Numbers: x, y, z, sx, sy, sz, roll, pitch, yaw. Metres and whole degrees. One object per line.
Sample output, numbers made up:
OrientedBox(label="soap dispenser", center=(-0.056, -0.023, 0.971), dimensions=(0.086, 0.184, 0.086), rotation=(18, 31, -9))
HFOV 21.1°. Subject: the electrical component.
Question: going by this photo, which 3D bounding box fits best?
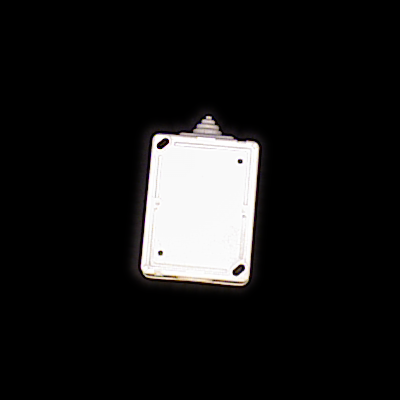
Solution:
OrientedBox(label="electrical component", center=(0.000, 0.000, 0.629), dimensions=(0.062, 0.096, 0.061), rotation=(5, -8, 1))
